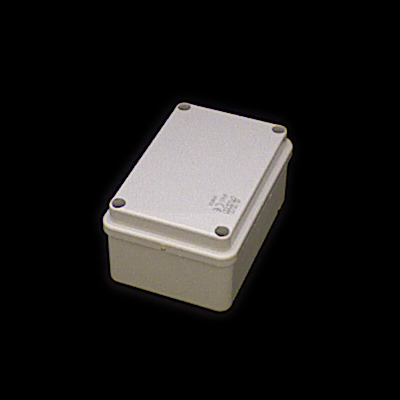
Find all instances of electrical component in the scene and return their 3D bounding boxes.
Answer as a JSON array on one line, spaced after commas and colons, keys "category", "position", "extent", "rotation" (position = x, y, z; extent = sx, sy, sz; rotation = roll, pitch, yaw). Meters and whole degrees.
[{"category": "electrical component", "position": [0.000, 0.000, 0.630], "extent": [0.078, 0.057, 0.112], "rotation": [15, 44, 15]}]
